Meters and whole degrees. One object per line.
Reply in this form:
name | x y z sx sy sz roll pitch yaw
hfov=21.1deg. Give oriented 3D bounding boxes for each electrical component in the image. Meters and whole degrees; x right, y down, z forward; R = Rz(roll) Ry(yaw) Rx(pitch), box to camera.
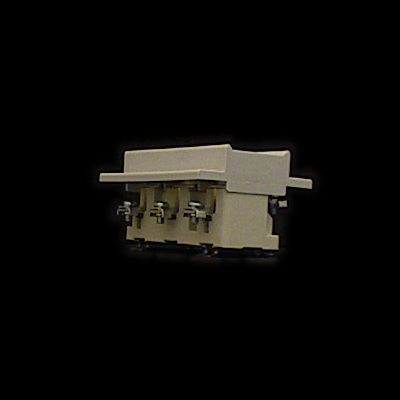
electrical component | 0.000 0.000 0.664 0.079 0.063 0.121 2 0 -32
